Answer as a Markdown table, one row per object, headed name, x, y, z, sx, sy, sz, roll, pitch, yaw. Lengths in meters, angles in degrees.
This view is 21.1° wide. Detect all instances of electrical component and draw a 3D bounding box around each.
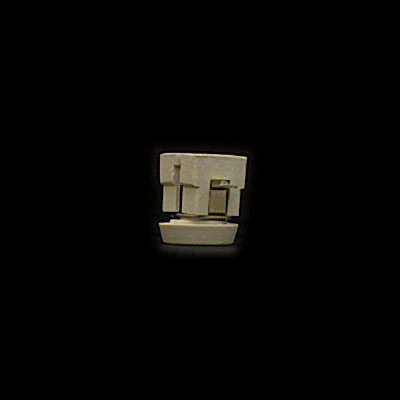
| name | x | y | z | sx | sy | sz | roll | pitch | yaw |
| --- | --- | --- | --- | --- | --- | --- | --- | --- | --- |
| electrical component | 0.000 | 0.000 | 0.656 | 0.049 | 0.055 | 0.066 | 1 | 2 | -32 |
